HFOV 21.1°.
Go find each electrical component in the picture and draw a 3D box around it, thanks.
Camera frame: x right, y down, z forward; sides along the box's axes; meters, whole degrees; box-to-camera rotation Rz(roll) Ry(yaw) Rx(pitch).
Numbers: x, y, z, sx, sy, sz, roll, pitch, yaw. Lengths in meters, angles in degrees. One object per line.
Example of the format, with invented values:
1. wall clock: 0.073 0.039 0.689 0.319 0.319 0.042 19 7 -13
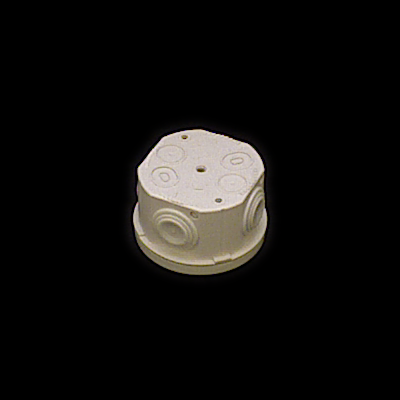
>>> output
1. electrical component: 0.000 0.000 0.634 0.080 0.051 0.080 1 43 -1
